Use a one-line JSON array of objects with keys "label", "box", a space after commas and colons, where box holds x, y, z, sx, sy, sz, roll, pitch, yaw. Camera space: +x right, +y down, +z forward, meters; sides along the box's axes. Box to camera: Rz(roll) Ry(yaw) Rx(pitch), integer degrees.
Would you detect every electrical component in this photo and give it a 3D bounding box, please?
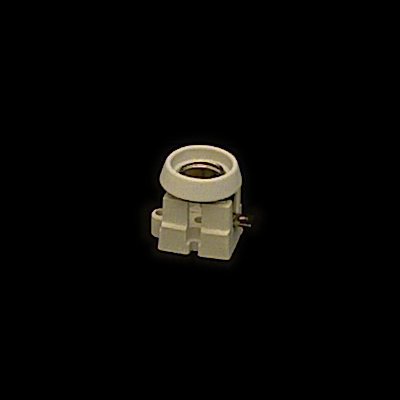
[{"label": "electrical component", "box": [0.000, 0.000, 0.644, 0.066, 0.056, 0.048, 8, 35, 11]}]
